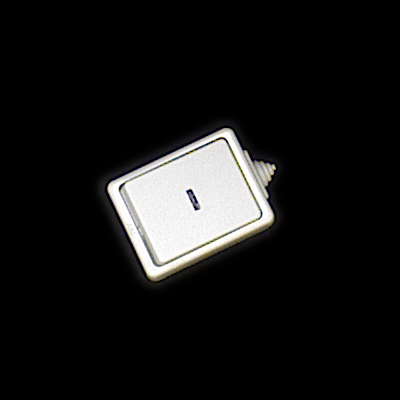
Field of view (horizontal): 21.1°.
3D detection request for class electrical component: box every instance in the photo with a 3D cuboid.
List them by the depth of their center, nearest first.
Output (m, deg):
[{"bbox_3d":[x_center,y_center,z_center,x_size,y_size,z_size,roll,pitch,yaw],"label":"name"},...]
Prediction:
[{"bbox_3d":[0.000,0.000,0.627,0.096,0.062,0.061,-26,-6,-3],"label":"electrical component"}]
